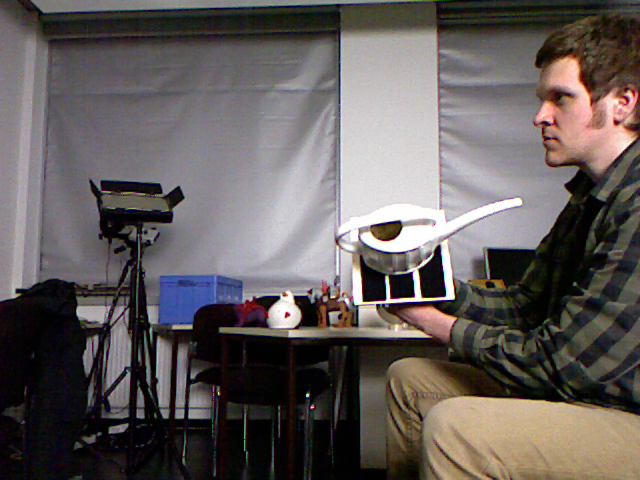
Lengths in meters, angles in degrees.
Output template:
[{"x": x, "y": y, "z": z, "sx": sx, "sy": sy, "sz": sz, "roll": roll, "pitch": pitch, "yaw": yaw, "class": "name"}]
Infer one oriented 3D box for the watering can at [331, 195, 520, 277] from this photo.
[{"x": 0.198, "y": -0.010, "z": 1.014, "sx": 0.349, "sy": 0.106, "sz": 0.221, "roll": -7, "pitch": -24, "yaw": 4, "class": "watering can"}]
